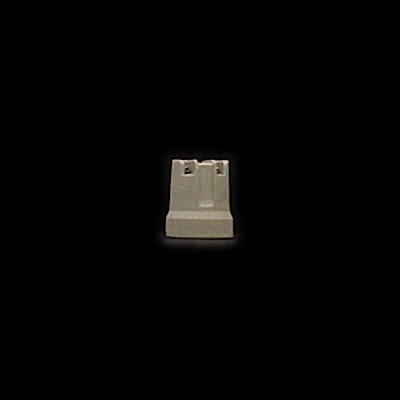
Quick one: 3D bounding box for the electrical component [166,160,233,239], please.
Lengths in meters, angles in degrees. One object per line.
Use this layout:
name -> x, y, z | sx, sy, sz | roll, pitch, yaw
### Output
electrical component -> 0.000, 0.000, 0.648 | 0.040, 0.046, 0.040 | 1, 1, 0
